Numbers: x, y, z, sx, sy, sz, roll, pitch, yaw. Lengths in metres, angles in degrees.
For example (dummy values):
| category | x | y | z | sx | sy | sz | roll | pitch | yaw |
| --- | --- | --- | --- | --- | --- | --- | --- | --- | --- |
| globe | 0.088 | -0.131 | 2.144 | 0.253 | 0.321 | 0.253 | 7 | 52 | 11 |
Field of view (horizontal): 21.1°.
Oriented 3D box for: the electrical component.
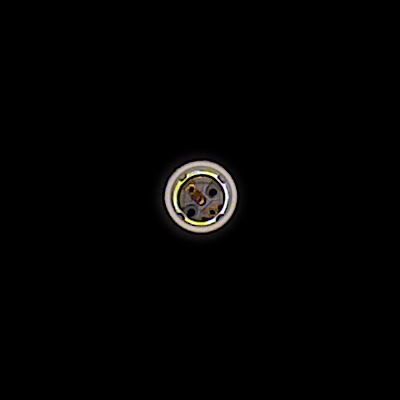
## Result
| category | x | y | z | sx | sy | sz | roll | pitch | yaw |
| --- | --- | --- | --- | --- | --- | --- | --- | --- | --- |
| electrical component | 0.000 | 0.000 | 0.627 | 0.040 | 0.040 | 0.046 | 0 | -6 | 0 |
